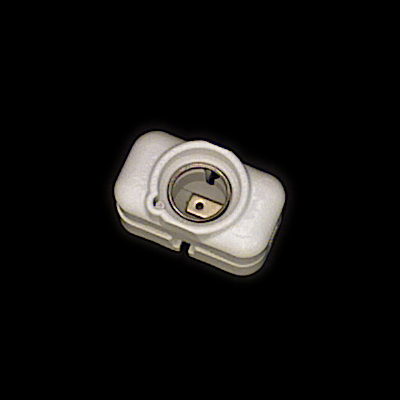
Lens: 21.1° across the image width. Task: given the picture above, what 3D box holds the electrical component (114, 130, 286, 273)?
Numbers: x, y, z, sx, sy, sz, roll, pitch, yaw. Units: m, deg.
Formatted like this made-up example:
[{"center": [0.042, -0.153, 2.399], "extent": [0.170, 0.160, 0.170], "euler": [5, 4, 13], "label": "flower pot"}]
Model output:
[{"center": [0.000, 0.000, 0.633], "extent": [0.095, 0.054, 0.059], "euler": [21, -15, 6], "label": "electrical component"}]
